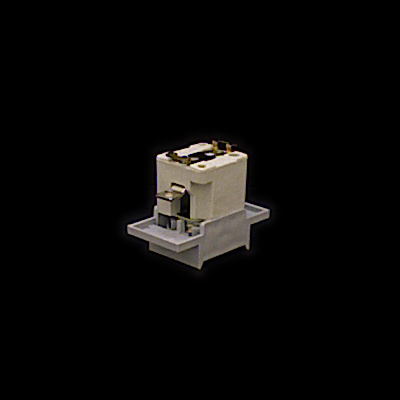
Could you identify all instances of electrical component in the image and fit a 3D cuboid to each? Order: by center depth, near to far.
[{"bbox_3d":[0.000,0.000,0.639,0.042,0.064,0.080,19,27,39],"label":"electrical component"}]
